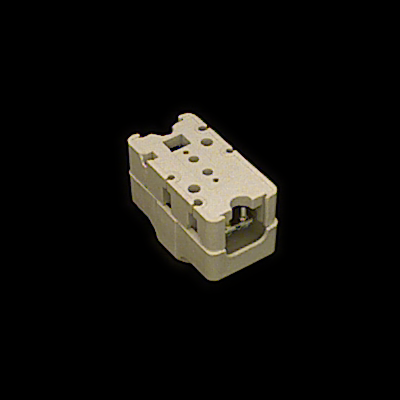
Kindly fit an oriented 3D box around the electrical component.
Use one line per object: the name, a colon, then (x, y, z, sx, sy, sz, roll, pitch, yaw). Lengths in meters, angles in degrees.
electrical component: (0.000, 0.000, 0.639, 0.050, 0.056, 0.088, -26, 48, -25)
